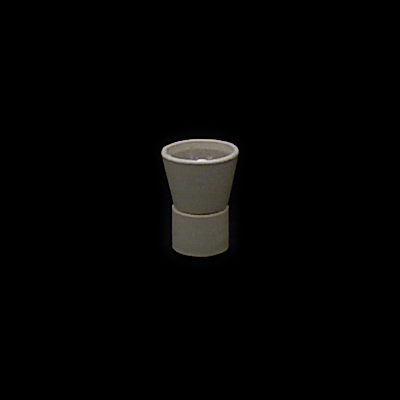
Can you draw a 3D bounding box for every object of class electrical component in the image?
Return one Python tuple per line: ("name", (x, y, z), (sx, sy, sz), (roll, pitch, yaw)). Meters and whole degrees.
("electrical component", (0.000, 0.000, 0.637), (0.044, 0.066, 0.044), (0, 22, 0))
